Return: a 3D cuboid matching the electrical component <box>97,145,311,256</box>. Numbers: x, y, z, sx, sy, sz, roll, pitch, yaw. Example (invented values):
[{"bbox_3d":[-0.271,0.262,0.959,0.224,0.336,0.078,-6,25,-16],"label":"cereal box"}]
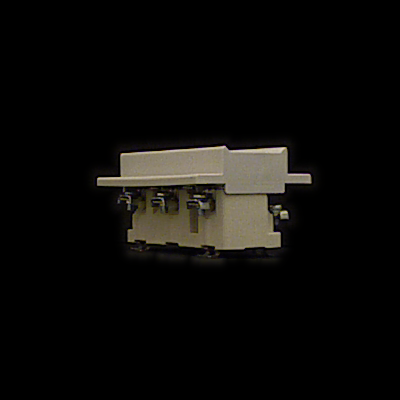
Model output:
[{"bbox_3d":[0.000,0.000,0.660,0.079,0.063,0.121,-1,2,-32],"label":"electrical component"}]
